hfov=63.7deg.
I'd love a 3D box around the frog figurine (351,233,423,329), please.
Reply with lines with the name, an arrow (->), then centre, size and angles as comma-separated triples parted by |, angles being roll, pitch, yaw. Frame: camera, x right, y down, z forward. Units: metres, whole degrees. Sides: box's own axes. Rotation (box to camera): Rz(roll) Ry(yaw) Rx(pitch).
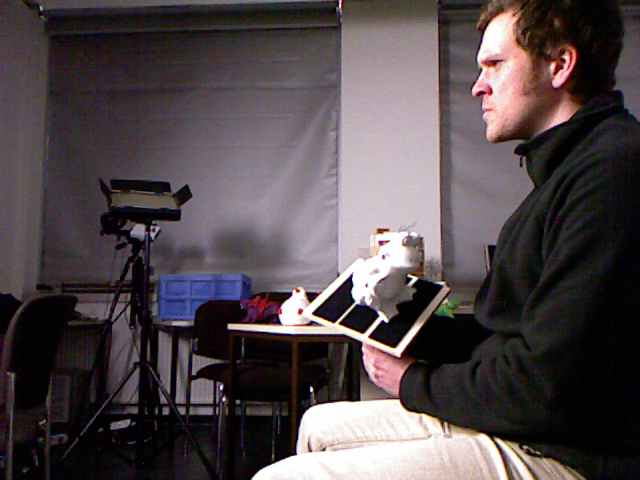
frog figurine -> 0.118, 0.053, 0.914 | 0.139, 0.156, 0.125 | -22, 38, -28
